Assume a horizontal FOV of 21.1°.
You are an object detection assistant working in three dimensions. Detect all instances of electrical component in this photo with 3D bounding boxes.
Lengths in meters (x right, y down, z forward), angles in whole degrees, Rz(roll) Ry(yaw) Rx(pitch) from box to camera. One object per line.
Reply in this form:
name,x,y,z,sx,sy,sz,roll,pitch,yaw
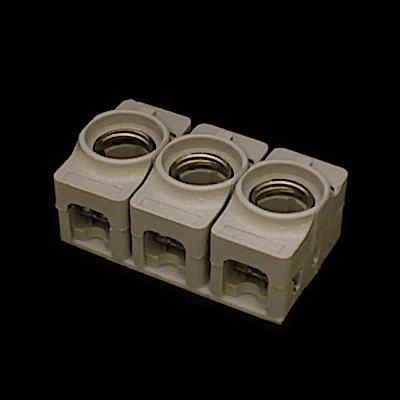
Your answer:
electrical component,0.000,0.000,0.638,0.149,0.063,0.088,19,44,19
